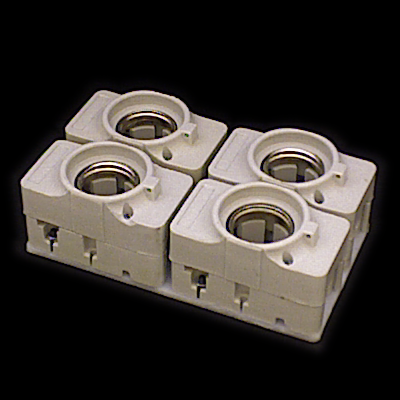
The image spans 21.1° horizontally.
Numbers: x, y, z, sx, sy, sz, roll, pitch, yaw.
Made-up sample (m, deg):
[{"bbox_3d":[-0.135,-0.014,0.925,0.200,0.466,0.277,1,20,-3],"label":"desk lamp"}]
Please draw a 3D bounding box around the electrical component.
[{"bbox_3d":[0.000,0.000,0.631,0.186,0.061,0.105,16,44,16],"label":"electrical component"}]
